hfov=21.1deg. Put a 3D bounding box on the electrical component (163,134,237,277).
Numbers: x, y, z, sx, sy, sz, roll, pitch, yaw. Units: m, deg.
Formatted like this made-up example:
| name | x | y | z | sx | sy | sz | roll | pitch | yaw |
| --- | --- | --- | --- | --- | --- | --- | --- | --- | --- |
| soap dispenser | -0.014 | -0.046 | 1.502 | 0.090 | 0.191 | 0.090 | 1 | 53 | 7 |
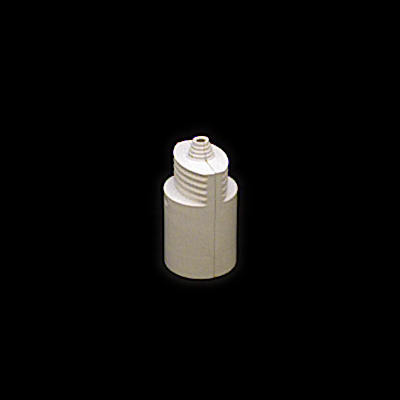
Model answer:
| name | x | y | z | sx | sy | sz | roll | pitch | yaw |
| --- | --- | --- | --- | --- | --- | --- | --- | --- | --- |
| electrical component | 0.000 | 0.000 | 0.629 | 0.043 | 0.082 | 0.042 | 1 | 31 | 0 |
